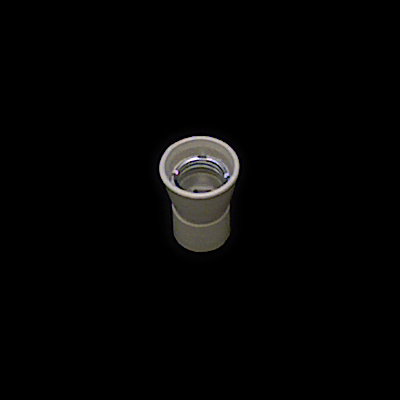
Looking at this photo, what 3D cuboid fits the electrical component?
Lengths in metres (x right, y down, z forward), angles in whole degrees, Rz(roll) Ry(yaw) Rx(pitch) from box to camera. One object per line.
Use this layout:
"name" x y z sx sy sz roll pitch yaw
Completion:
"electrical component" 0.000 0.000 0.626 0.044 0.044 0.065 0 -37 1
